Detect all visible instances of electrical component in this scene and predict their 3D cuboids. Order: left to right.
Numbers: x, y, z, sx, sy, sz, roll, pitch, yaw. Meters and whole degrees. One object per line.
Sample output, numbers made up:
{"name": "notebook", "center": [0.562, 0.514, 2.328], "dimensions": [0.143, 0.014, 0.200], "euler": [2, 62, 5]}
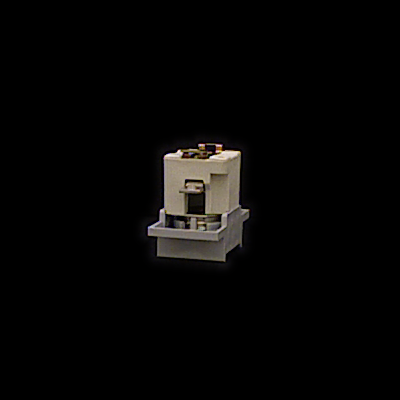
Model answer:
{"name": "electrical component", "center": [0.000, 0.000, 0.645], "dimensions": [0.042, 0.064, 0.080], "euler": [4, 11, 14]}
